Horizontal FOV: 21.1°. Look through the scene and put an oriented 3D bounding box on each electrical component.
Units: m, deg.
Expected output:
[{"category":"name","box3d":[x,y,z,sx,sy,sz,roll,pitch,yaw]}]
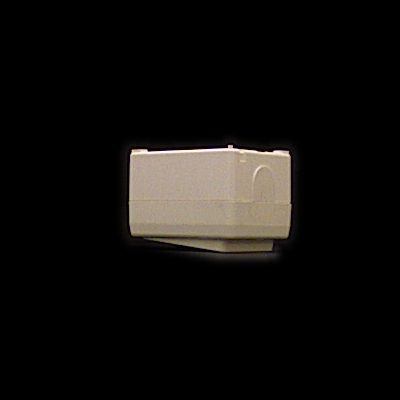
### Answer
[{"category":"electrical component","box3d":[0.000,0.000,0.653,0.096,0.061,0.062,0,0,39]}]
